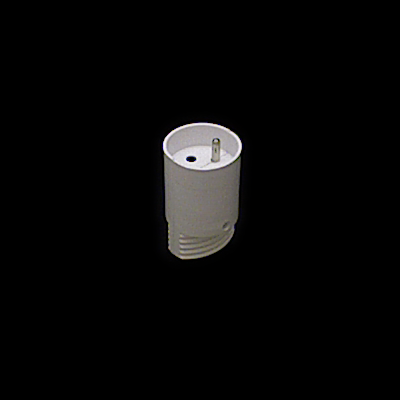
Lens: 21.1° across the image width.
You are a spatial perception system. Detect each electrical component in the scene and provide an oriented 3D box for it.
[{"bbox_3d":[0.000,0.000,0.625,0.043,0.082,0.042,1,42,-1],"label":"electrical component"}]
